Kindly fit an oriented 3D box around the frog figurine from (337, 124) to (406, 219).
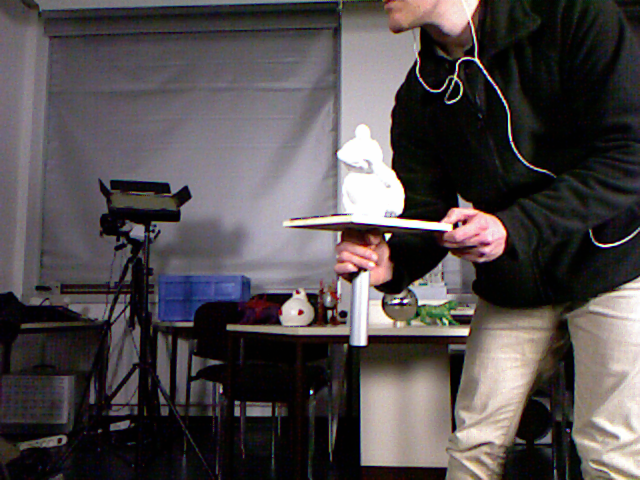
[{"bbox_3d":[0.084,-0.111,0.866,0.123,0.160,0.138,3,2,-12],"label":"frog figurine"}]
